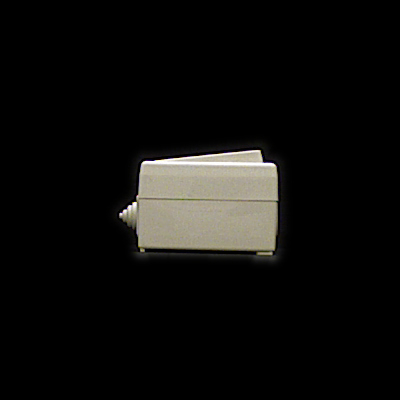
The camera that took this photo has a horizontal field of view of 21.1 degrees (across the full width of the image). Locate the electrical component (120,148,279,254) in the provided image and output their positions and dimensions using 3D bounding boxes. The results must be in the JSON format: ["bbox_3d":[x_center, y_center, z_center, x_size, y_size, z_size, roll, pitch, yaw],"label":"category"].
[{"bbox_3d":[0.000,0.000,0.650,0.096,0.061,0.061,1,0,4],"label":"electrical component"}]
